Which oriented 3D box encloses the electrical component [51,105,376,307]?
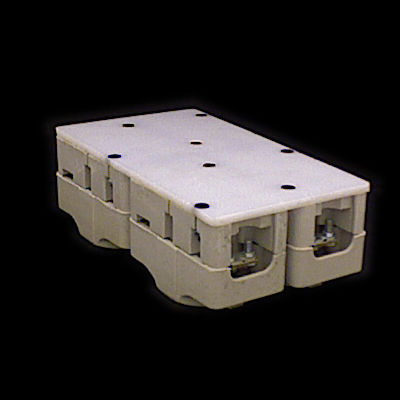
[{"bbox_3d":[0.000,0.000,0.638,0.105,0.061,0.184,-12,24,-31],"label":"electrical component"}]
